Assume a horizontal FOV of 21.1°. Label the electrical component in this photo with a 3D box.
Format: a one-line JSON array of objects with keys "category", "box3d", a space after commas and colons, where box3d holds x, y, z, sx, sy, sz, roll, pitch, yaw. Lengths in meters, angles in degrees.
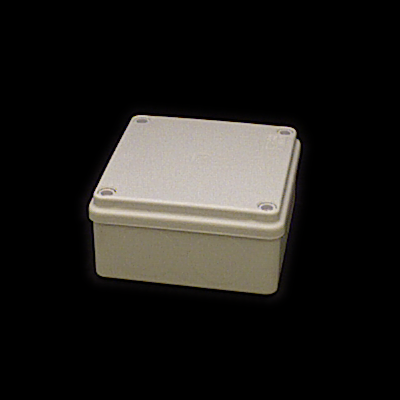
[{"category": "electrical component", "box3d": [0.000, 0.000, 0.635, 0.108, 0.057, 0.107, 5, 32, 8]}]
